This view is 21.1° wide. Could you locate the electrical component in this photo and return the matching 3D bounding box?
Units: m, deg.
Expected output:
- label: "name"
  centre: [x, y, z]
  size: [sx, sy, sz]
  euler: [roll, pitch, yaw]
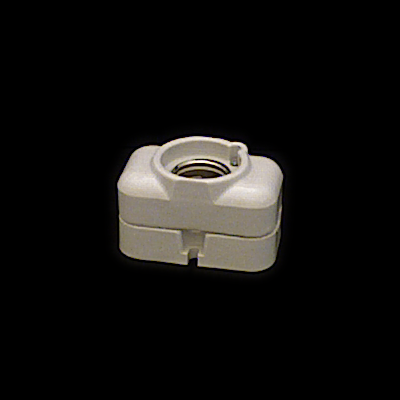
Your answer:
- label: "electrical component"
  centre: [0.000, 0.000, 0.642]
  size: [0.095, 0.060, 0.053]
  euler: [6, 33, 8]
